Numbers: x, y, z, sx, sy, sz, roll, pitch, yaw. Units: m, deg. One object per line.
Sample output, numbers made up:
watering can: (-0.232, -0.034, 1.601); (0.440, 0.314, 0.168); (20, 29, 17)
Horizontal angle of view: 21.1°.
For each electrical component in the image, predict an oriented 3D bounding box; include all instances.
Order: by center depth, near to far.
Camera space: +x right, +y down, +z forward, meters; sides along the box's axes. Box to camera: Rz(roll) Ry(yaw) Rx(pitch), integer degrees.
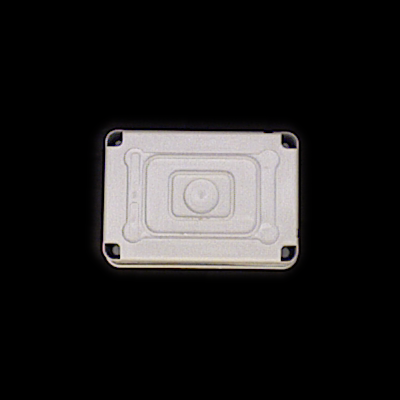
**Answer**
electrical component: (0.000, 0.000, 0.629); (0.113, 0.078, 0.057); (1, -6, 1)
